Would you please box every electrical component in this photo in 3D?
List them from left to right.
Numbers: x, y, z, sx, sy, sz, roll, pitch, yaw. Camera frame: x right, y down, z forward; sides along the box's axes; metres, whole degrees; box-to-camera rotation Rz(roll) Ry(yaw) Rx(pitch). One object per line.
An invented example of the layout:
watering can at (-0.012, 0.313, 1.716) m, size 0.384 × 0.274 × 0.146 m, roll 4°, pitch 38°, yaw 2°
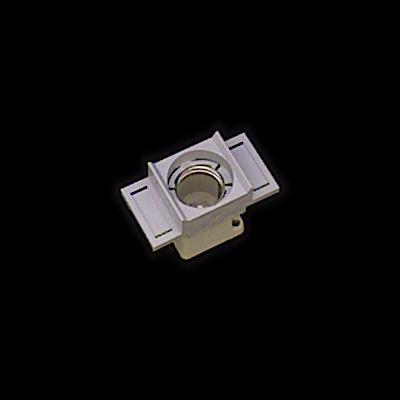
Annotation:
electrical component at (0.000, 0.000, 0.623) m, size 0.081 × 0.042 × 0.063 m, roll -25°, pitch -23°, yaw -13°
